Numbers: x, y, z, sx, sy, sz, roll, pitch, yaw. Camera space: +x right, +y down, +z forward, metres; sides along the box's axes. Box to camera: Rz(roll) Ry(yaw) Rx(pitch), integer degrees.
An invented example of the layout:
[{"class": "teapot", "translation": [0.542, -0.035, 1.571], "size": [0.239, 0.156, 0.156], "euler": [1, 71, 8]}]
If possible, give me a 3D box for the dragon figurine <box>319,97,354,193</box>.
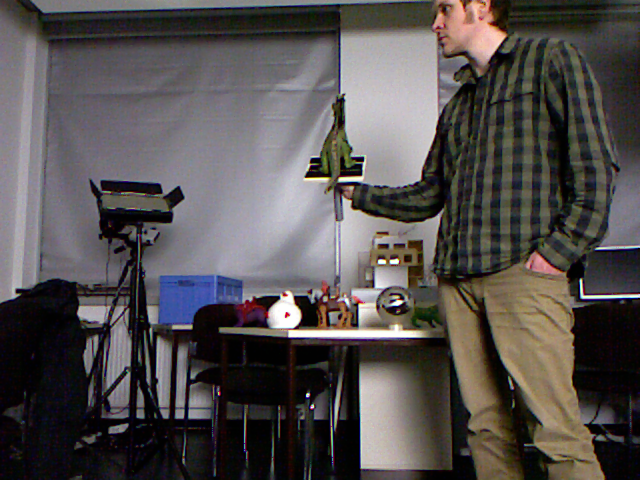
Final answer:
[{"class": "dragon figurine", "translation": [0.053, -0.359, 1.731], "size": [0.122, 0.238, 0.421], "euler": [-1, 36, 3]}]
